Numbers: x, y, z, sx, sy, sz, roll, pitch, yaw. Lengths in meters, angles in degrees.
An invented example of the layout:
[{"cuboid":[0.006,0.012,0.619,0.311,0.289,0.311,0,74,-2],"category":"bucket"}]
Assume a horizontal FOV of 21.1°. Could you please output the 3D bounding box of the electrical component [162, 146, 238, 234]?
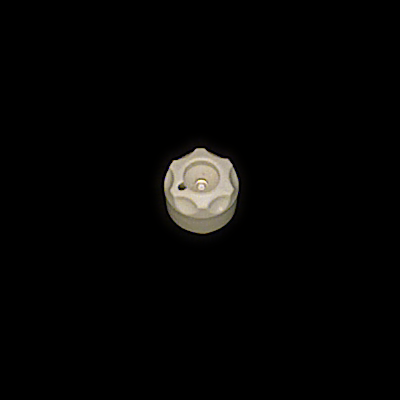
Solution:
[{"cuboid":[0.000,0.000,0.635,0.043,0.043,0.062,0,-27,0],"category":"electrical component"}]
